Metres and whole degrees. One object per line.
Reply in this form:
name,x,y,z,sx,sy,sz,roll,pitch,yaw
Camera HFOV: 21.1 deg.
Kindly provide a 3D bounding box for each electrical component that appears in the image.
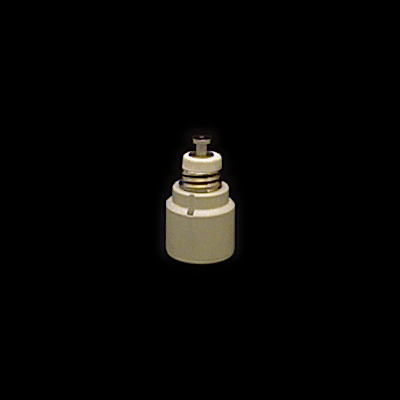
electrical component,0.000,0.000,0.637,0.040,0.079,0.039,1,22,0
